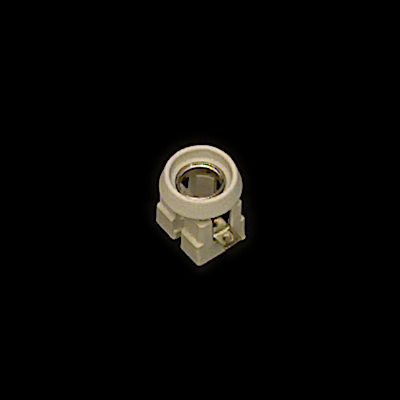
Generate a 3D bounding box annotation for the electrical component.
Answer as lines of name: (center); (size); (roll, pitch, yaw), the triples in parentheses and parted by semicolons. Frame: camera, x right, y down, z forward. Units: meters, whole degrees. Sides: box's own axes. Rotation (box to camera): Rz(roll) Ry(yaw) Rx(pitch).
electrical component: (0.000, 0.000, 0.638); (0.048, 0.066, 0.056); (-34, -30, -21)
